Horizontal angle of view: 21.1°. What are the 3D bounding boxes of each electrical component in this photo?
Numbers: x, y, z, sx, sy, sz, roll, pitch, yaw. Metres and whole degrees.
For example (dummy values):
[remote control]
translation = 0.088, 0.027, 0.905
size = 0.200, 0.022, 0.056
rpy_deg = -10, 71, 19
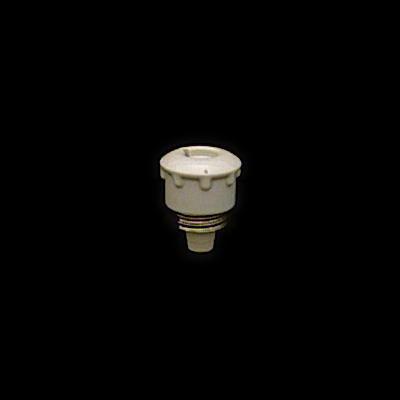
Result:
[electrical component]
translation = 0.000, 0.000, 0.644
size = 0.048, 0.062, 0.047
rpy_deg = 1, 21, 0
